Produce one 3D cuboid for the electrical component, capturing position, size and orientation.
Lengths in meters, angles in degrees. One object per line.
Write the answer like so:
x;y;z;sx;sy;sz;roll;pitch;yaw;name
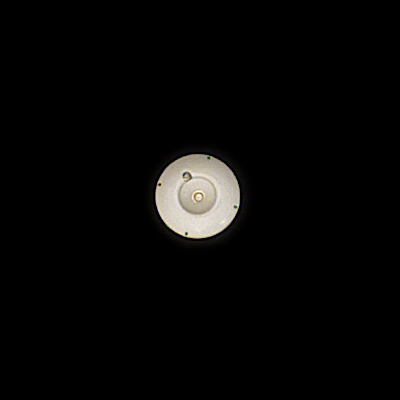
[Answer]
0.000;0.000;0.634;0.048;0.048;0.061;0;-6;0;electrical component
